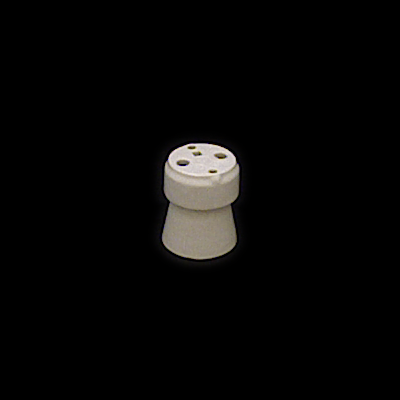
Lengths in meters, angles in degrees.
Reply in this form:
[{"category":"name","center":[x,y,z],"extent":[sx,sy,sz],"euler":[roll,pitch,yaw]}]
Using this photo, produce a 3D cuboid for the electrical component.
[{"category":"electrical component","center":[0.000,0.000,0.636],"extent":[0.045,0.056,0.044],"euler":[1,32,-1]}]
